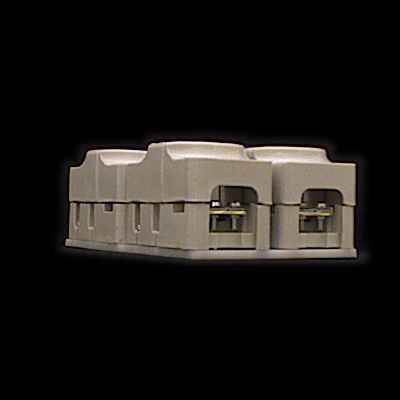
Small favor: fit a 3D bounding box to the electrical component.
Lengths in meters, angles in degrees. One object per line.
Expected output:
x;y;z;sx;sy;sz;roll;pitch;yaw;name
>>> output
0.000;0.000;0.649;0.106;0.060;0.185;1;-1;-28;electrical component
